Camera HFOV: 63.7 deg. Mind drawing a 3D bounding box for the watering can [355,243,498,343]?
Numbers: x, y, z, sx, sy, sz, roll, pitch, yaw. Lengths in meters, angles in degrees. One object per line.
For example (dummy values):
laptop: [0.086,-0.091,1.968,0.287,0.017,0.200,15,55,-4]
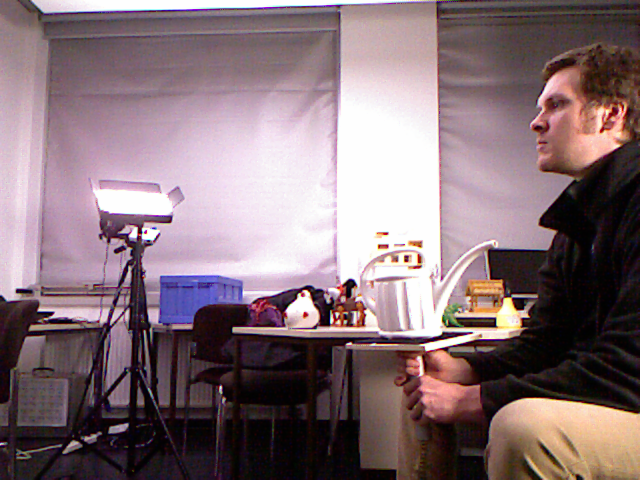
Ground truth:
watering can: [0.215,0.117,1.075,0.346,0.225,0.104,-10,-3,43]
